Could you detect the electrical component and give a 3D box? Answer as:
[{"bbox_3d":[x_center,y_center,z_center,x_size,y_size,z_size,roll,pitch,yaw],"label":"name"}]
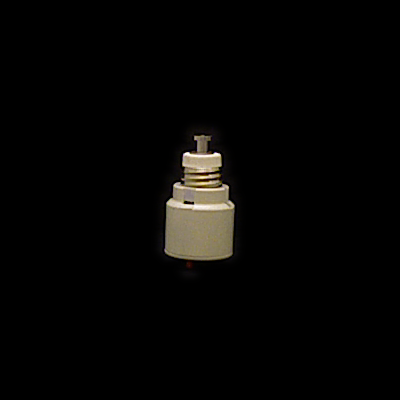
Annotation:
[{"bbox_3d":[0.000,0.000,0.643,0.040,0.079,0.040,2,11,0],"label":"electrical component"}]
